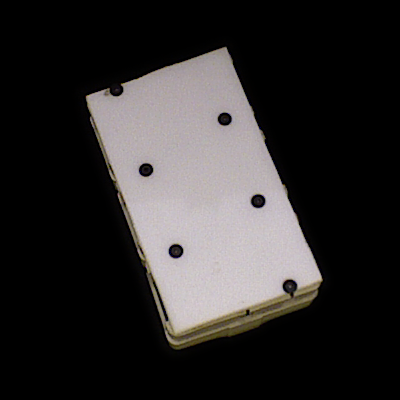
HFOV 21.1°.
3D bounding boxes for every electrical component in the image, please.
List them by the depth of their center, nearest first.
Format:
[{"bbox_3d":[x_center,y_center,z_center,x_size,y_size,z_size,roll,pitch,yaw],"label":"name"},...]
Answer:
[{"bbox_3d":[0.000,0.000,0.630,0.089,0.150,0.062,-19,-15,-5],"label":"electrical component"}]
